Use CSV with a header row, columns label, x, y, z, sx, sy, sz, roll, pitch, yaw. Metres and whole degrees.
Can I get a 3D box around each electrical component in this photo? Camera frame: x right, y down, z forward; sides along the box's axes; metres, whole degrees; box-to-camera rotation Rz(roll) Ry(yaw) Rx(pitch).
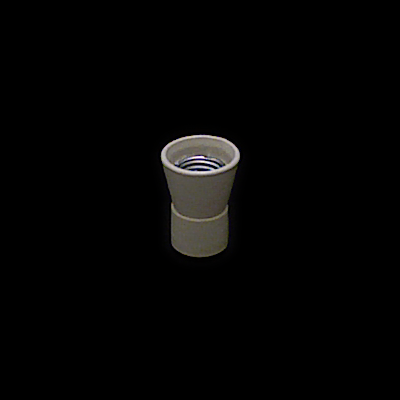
label,x,y,z,sx,sy,sz,roll,pitch,yaw
electrical component,0.000,0.000,0.631,0.044,0.066,0.044,1,32,0
